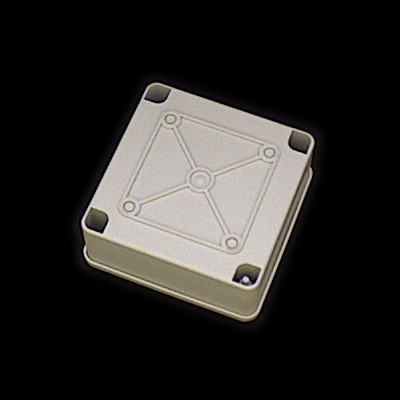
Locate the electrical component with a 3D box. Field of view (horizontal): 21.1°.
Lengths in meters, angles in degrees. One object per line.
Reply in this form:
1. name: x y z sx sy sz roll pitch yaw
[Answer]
1. electrical component: 0.000 0.000 0.627 0.109 0.109 0.056 19 -25 9
